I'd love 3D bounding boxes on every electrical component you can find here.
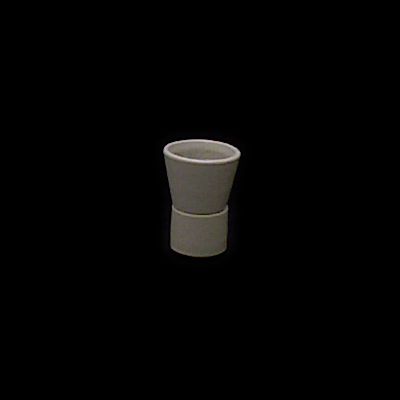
[{"bbox_3d":[0.000,0.000,0.640,0.044,0.066,0.044,2,21,-1],"label":"electrical component"}]
